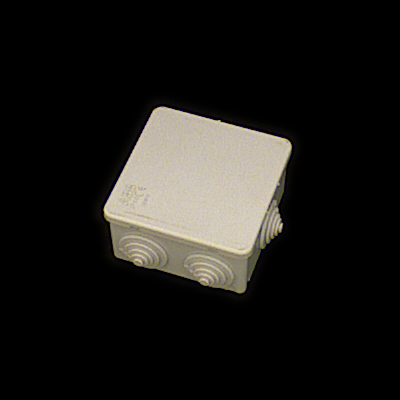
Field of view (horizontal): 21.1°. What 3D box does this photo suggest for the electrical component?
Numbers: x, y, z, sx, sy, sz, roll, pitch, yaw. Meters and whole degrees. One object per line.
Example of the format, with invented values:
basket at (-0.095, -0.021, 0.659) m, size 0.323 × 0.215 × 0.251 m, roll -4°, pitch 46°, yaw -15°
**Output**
electrical component at (0.000, 0.000, 0.639) m, size 0.099 × 0.100 × 0.048 m, roll 16°, pitch -35°, yaw 11°
